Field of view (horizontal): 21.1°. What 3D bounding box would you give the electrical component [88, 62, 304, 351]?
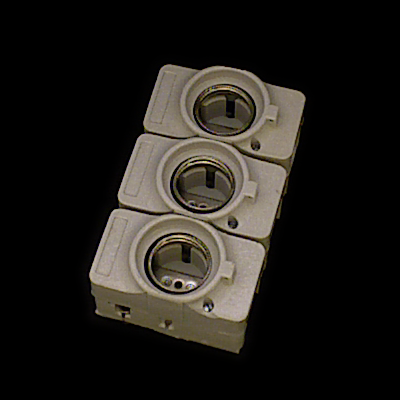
[{"bbox_3d":[0.000,0.000,0.631,0.089,0.149,0.062,14,-26,6],"label":"electrical component"}]
